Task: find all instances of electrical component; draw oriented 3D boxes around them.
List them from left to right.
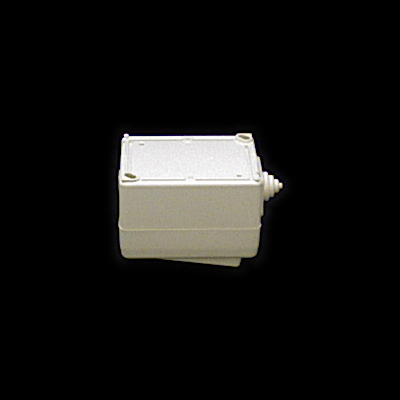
[{"bbox_3d":[0.000,0.000,0.636,0.096,0.062,0.061,-1,31,-2],"label":"electrical component"}]
